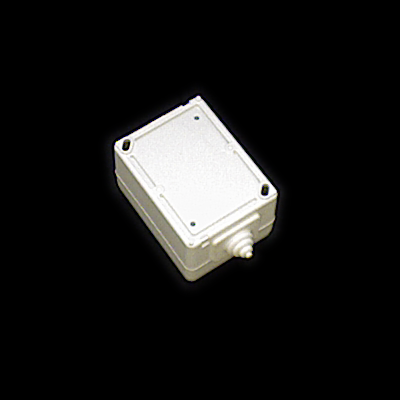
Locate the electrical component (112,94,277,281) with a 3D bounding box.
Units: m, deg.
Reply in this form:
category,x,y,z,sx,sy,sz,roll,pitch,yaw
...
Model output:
category,x,y,z,sx,sy,sz,roll,pitch,yaw
electrical component,0.000,0.000,0.624,0.062,0.096,0.060,-31,-24,-16
